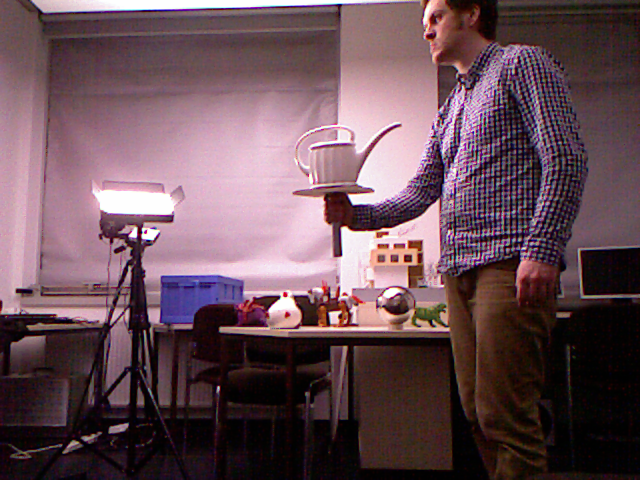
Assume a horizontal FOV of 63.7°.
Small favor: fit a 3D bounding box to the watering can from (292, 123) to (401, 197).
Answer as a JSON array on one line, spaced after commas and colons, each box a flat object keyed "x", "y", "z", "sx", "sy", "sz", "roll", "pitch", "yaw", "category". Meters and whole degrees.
[{"x": 0.082, "y": -0.246, "z": 1.581, "sx": 0.347, "sy": 0.223, "sz": 0.105, "roll": -4, "pitch": 9, "yaw": 16, "category": "watering can"}]
